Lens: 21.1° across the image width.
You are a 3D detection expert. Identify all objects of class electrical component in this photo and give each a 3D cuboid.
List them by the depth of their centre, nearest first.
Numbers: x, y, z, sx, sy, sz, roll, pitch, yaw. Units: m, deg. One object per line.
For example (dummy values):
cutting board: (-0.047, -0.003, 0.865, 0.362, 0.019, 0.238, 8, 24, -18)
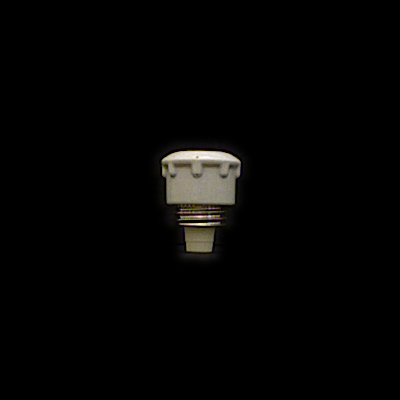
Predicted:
electrical component: (0.000, 0.000, 0.655, 0.048, 0.062, 0.048, 1, 2, 0)
